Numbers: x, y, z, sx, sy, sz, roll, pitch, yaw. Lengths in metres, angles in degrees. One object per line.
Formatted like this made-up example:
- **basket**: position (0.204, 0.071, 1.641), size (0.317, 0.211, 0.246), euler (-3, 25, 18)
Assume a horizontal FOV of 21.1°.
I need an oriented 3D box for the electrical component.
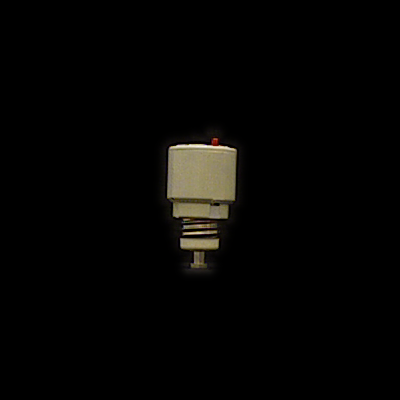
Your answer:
- **electrical component**: position (0.000, 0.000, 0.647), size (0.040, 0.078, 0.040), euler (2, 1, 0)
